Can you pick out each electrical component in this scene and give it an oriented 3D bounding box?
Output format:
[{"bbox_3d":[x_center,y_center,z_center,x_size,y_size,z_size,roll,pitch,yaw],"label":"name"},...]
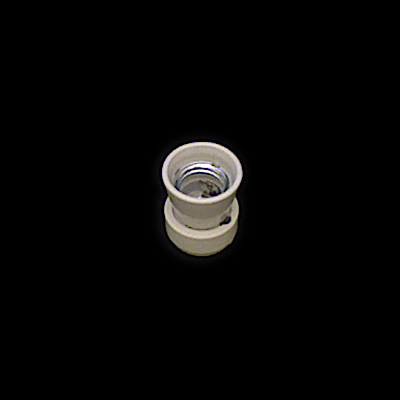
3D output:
[{"bbox_3d":[0.000,0.000,0.630,0.045,0.044,0.055,0,-38,-1],"label":"electrical component"}]
